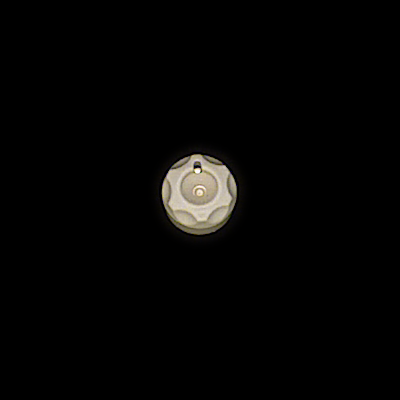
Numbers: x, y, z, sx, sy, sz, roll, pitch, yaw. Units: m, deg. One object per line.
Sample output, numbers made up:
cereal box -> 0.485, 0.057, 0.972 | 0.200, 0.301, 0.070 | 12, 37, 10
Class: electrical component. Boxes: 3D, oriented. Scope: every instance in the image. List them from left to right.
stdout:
electrical component -> 0.000, 0.000, 0.633 | 0.043, 0.043, 0.061 | 0, -15, 0
